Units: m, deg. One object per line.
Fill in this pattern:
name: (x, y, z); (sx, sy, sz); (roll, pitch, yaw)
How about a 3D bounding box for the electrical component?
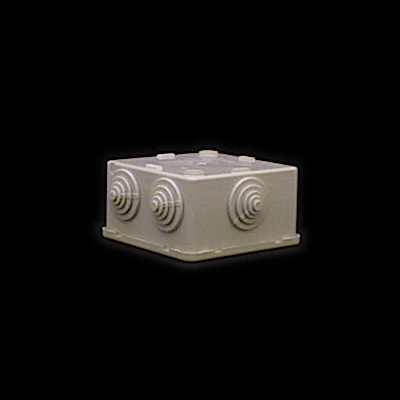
electrical component: (0.000, 0.000, 0.646); (0.100, 0.049, 0.099); (-7, 13, -39)
